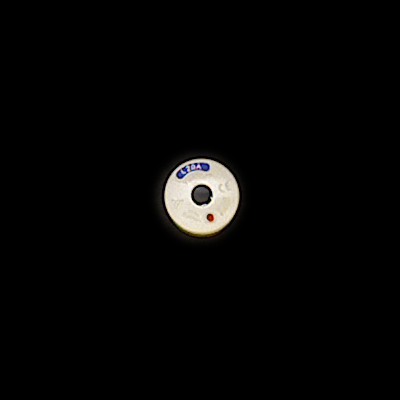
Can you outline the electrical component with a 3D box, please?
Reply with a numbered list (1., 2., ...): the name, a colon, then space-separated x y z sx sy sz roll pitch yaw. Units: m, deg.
1. electrical component: 0.000 0.000 0.617 0.040 0.040 0.078 0 -5 0
